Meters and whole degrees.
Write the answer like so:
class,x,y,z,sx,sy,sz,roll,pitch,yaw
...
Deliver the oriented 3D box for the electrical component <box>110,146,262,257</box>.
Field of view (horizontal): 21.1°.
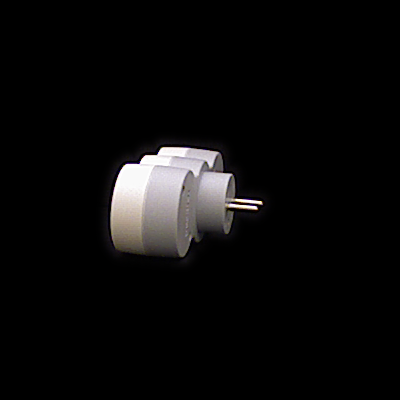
class,x,y,z,sx,sy,sz,roll,pitch,yaw
electrical component,0.000,0.000,0.648,0.073,0.052,0.137,5,10,11
